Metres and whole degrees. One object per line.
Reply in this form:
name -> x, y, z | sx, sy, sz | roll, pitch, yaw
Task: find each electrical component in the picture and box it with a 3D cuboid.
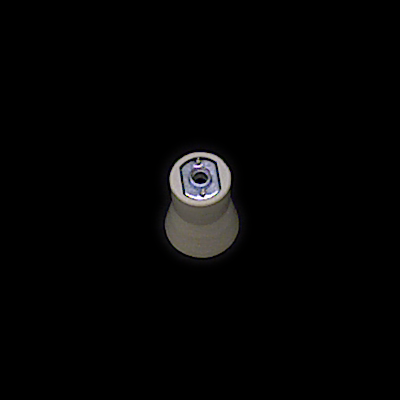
electrical component -> 0.000, 0.000, 0.625 | 0.044, 0.044, 0.065 | 0, -27, 1
